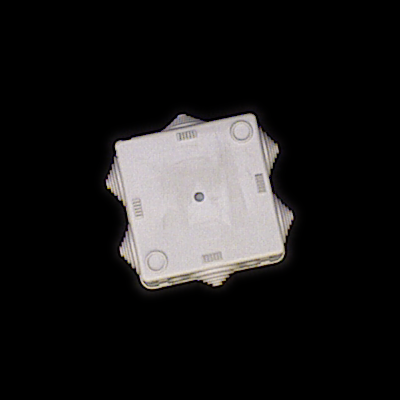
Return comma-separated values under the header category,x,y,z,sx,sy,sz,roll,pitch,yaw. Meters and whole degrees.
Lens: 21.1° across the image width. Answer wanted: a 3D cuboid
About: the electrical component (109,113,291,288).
category,x,y,z,sx,sy,sz,roll,pitch,yaw
electrical component,0.000,0.000,0.633,0.100,0.100,0.048,-12,-7,-2
